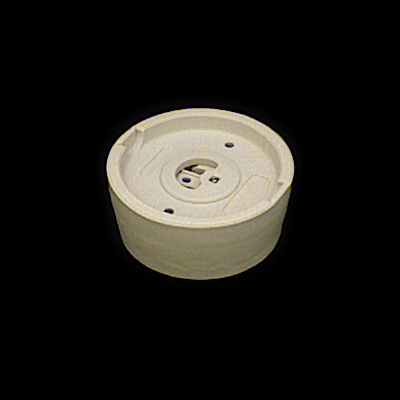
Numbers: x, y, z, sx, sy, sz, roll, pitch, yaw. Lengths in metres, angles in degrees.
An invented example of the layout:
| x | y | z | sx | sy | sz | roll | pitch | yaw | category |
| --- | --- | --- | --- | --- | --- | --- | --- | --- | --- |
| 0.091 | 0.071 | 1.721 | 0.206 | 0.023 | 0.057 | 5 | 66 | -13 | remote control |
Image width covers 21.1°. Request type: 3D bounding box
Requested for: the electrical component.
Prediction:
| x | y | z | sx | sy | sz | roll | pitch | yaw | category |
| --- | --- | --- | --- | --- | --- | --- | --- | --- | --- |
| 0.000 | 0.000 | 0.638 | 0.108 | 0.061 | 0.107 | 0 | 42 | 0 | electrical component |
